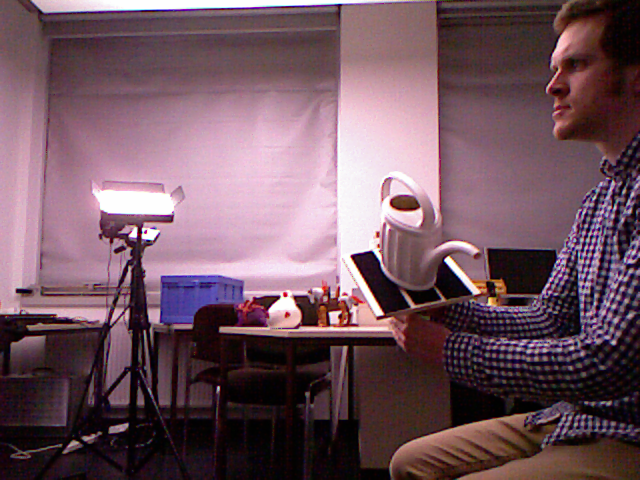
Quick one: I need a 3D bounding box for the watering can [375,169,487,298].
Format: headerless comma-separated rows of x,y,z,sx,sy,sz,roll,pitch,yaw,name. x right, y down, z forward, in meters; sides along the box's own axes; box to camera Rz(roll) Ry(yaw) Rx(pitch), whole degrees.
0.180,0.010,0.930,0.104,0.220,0.355,-14,34,-13,watering can
